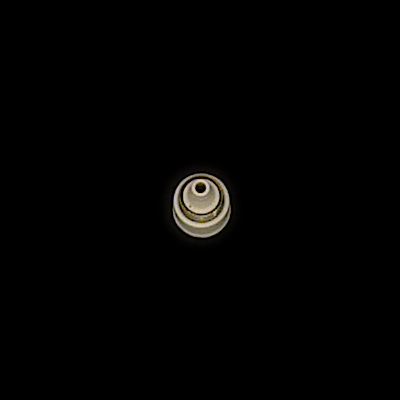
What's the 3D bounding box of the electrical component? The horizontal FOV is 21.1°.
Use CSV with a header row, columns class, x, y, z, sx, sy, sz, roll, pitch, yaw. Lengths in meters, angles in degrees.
class,x,y,z,sx,sy,sz,roll,pitch,yaw
electrical component,0.000,0.000,0.637,0.035,0.035,0.061,0,-15,1
